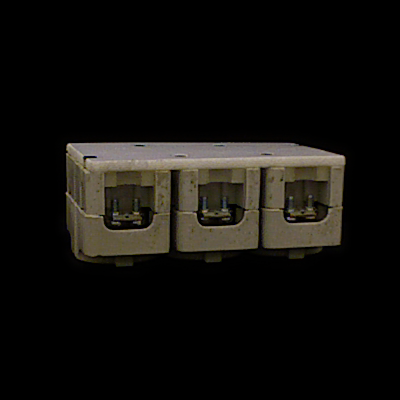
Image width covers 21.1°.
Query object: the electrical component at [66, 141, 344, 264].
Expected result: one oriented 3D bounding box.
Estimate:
[{"bbox_3d":[0.000,0.000,0.647,0.150,0.062,0.088,-2,10,-15],"label":"electrical component"}]
